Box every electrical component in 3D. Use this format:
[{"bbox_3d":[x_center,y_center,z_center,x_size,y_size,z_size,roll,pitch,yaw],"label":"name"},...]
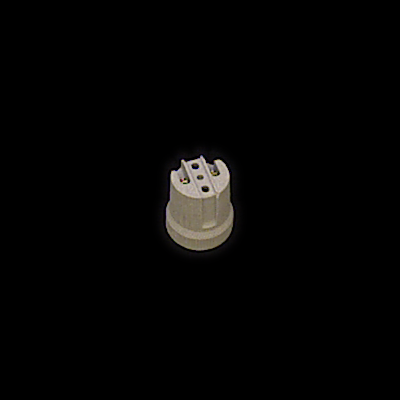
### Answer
[{"bbox_3d":[0.000,0.000,0.635,0.040,0.040,0.046,0,-37,-1],"label":"electrical component"}]
